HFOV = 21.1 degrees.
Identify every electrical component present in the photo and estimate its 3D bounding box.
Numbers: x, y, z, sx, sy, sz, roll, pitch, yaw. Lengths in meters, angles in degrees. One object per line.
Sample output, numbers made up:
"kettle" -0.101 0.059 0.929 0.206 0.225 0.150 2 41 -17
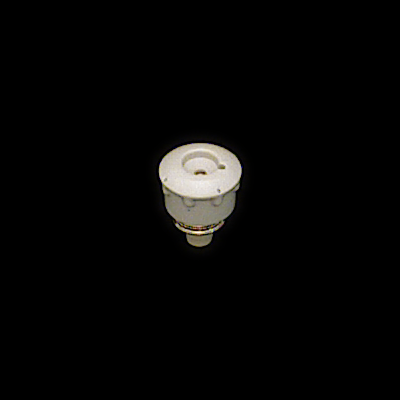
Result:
"electrical component" 0.000 0.000 0.639 0.048 0.062 0.047 1 43 0
